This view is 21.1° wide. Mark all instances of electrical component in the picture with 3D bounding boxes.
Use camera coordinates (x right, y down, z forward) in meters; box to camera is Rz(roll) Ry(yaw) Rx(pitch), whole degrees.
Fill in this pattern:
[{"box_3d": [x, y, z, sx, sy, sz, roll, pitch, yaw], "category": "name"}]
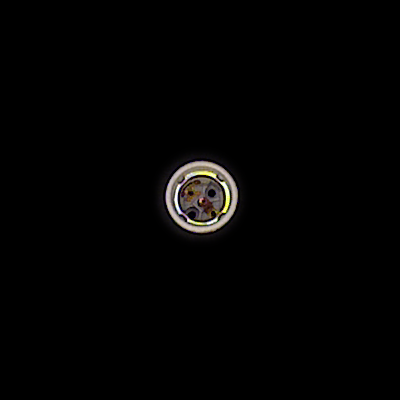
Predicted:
[{"box_3d": [0.000, 0.000, 0.627, 0.040, 0.040, 0.046, 0, -6, 0], "category": "electrical component"}]
